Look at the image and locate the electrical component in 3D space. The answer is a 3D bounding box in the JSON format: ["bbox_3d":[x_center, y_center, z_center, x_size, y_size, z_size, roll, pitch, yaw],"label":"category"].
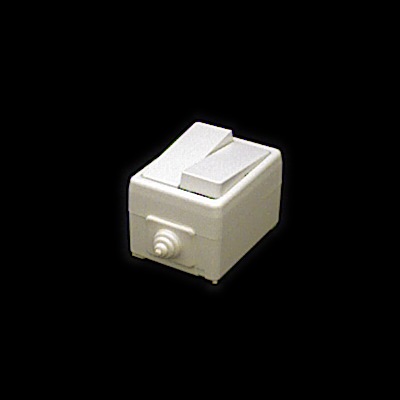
[{"bbox_3d":[0.000,0.000,0.632,0.061,0.061,0.096,18,35,26],"label":"electrical component"}]
